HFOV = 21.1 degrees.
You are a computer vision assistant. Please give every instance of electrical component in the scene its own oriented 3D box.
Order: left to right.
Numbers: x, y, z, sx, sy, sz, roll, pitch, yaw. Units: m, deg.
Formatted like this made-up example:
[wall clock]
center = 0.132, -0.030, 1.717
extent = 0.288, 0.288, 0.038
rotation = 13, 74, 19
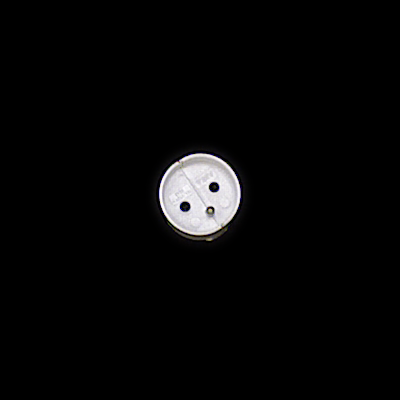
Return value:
[electrical component]
center = 0.000, 0.000, 0.615
extent = 0.043, 0.043, 0.080
rotation = 0, -5, 0
